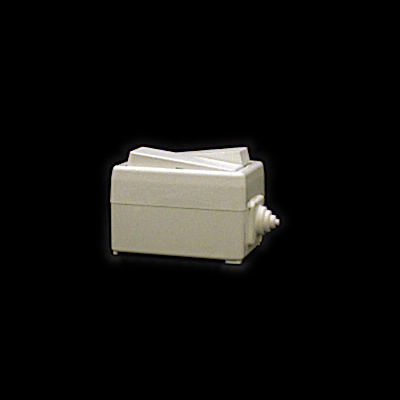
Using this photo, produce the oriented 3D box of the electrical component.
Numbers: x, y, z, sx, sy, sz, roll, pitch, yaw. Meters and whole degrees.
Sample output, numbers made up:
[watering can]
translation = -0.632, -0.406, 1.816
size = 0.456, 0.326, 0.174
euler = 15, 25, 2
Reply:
[electrical component]
translation = 0.000, 0.000, 0.644
size = 0.096, 0.061, 0.061
euler = 4, 11, 14
